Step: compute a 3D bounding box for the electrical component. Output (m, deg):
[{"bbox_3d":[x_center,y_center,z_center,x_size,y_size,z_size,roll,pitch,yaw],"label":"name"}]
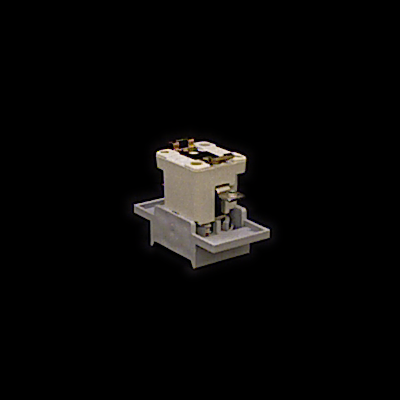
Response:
[{"bbox_3d":[0.000,0.000,0.638,0.042,0.064,0.080,-15,27,-35],"label":"electrical component"}]
